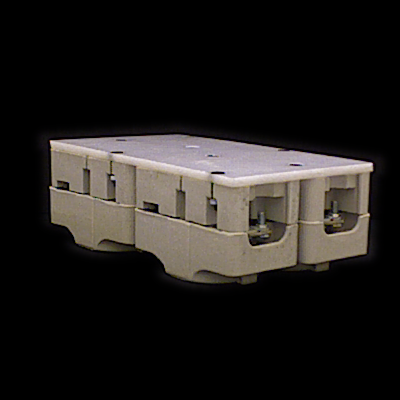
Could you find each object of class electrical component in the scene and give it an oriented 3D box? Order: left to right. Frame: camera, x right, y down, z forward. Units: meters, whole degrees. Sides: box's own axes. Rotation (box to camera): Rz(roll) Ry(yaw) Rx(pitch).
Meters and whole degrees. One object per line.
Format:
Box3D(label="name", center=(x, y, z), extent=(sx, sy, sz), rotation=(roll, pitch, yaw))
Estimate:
Box3D(label="electrical component", center=(0.000, 0.000, 0.644), extent=(0.105, 0.060, 0.185), rotation=(-6, 12, -38))
